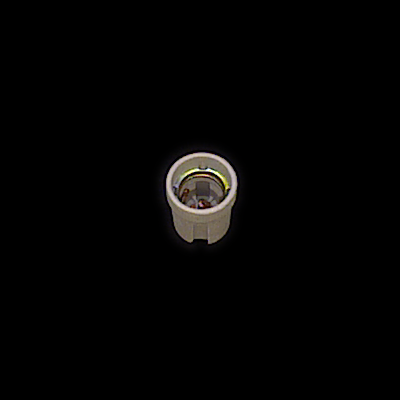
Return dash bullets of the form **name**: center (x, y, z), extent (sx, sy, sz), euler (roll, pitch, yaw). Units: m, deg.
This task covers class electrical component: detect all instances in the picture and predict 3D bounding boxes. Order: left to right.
- **electrical component**: center (0.000, 0.000, 0.629), extent (0.040, 0.040, 0.046), euler (0, -28, 0)
